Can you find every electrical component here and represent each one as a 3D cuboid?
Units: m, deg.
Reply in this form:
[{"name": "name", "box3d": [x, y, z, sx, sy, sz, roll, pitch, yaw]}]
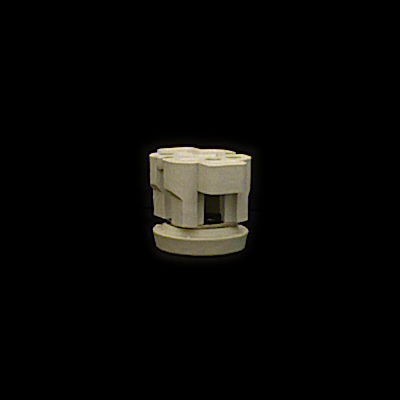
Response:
[{"name": "electrical component", "box3d": [0.000, 0.000, 0.652, 0.058, 0.057, 0.077, -6, 12, -27]}]
